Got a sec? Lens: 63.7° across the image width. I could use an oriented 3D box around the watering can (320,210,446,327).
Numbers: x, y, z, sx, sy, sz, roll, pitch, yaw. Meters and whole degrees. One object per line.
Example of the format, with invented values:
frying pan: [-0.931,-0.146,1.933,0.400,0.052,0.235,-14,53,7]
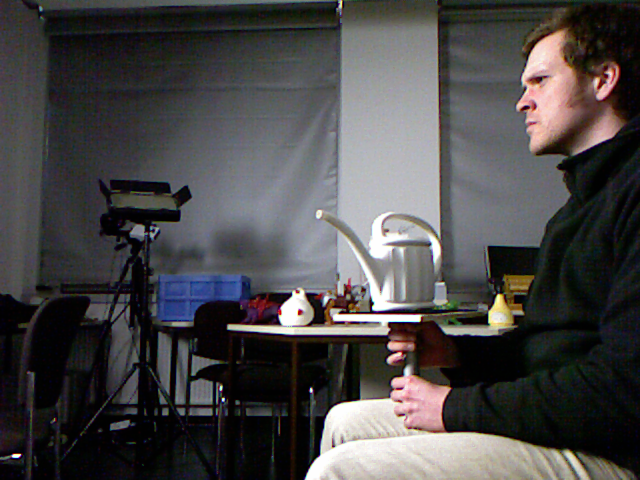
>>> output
watering can: [0.128,0.052,0.973,0.347,0.225,0.103,4,-6,-41]
